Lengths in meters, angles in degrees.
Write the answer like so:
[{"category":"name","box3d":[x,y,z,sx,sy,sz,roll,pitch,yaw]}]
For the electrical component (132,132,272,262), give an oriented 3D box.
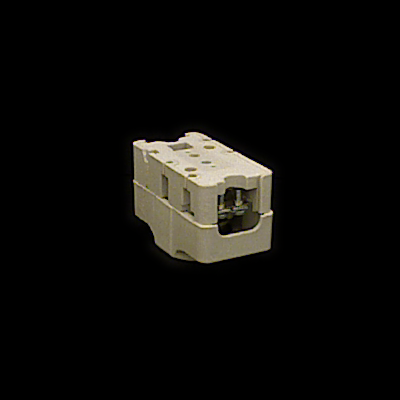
[{"category":"electrical component","box3d":[0.000,0.000,0.646,0.050,0.056,0.088,-12,25,-28]}]
